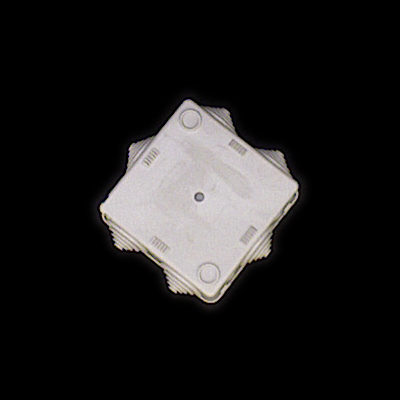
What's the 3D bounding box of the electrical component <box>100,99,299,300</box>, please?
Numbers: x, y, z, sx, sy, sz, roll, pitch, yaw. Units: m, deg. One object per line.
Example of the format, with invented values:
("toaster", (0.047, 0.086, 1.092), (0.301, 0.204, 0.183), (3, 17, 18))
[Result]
("electrical component", (0.000, 0.000, 0.632), (0.100, 0.100, 0.048), (38, -5, 4))
